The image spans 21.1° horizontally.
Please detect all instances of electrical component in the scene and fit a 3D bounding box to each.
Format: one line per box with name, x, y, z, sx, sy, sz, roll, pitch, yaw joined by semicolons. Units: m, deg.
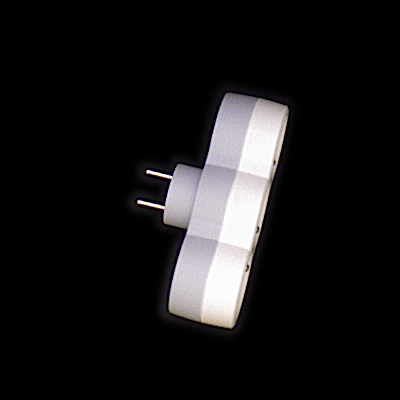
electrical component;0.000;0.000;0.629;0.074;0.139;0.052;13;-16;6
